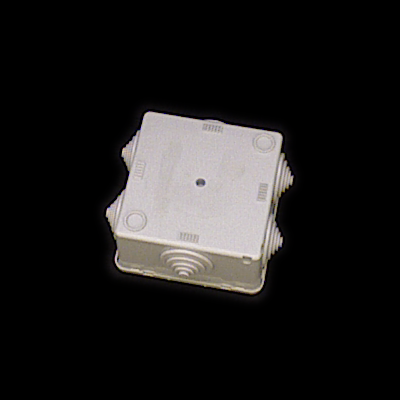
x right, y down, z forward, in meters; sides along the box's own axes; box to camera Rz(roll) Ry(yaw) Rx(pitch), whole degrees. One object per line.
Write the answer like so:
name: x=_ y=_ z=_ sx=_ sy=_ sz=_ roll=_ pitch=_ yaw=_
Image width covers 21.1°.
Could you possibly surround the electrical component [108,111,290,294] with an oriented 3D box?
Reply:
electrical component: x=0.000 y=0.000 z=0.631 sx=0.100 sy=0.100 sz=0.048 roll=10 pitch=-26 yaw=5
